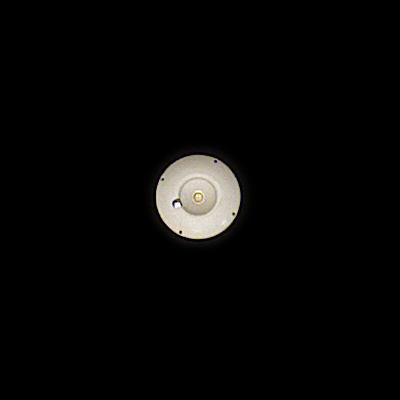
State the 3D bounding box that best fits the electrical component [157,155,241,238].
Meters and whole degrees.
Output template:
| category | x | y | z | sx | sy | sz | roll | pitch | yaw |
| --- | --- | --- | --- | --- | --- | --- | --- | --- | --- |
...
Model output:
| category | x | y | z | sx | sy | sz | roll | pitch | yaw |
| --- | --- | --- | --- | --- | --- | --- | --- | --- | --- |
| electrical component | 0.000 | 0.000 | 0.634 | 0.048 | 0.048 | 0.061 | 0 | -6 | 1 |
